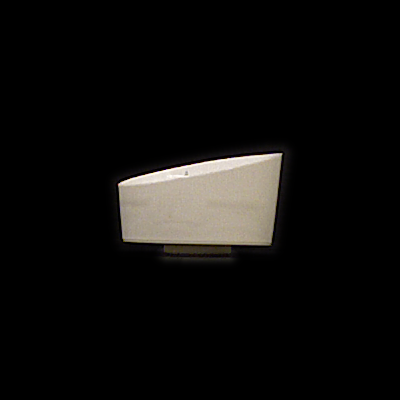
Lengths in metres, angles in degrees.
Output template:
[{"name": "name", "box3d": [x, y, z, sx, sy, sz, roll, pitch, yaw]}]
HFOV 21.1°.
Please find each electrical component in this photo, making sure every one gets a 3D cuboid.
[{"name": "electrical component", "box3d": [0.000, 0.000, 0.651, 0.099, 0.064, 0.099, 2, -1, 0]}]
